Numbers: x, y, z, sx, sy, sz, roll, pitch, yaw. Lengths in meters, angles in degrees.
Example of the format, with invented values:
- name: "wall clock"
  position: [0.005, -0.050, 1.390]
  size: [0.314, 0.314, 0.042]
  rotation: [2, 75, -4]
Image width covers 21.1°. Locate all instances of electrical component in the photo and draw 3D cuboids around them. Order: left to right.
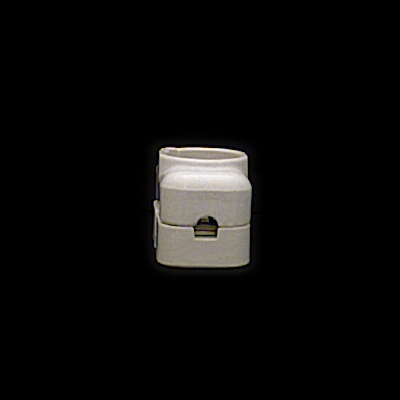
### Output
- name: "electrical component"
  position: [0.000, 0.000, 0.651]
  size: [0.054, 0.060, 0.094]
  rotation: [0, 11, -5]
